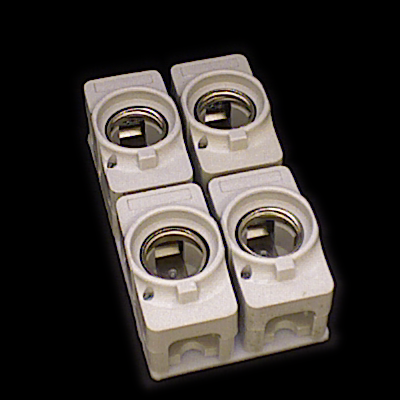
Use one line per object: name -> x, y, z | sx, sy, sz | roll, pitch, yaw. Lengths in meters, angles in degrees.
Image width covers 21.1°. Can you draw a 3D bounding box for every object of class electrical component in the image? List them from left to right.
electrical component -> 0.000, 0.000, 0.627 | 0.105, 0.185, 0.060 | -11, -36, -9
